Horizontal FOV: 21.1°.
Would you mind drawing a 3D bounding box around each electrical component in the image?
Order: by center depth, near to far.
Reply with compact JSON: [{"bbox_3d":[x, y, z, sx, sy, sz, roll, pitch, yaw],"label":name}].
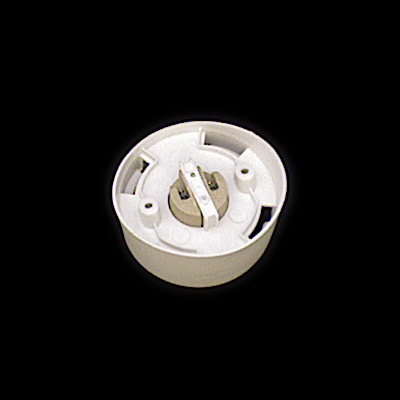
[{"bbox_3d":[0.000,0.000,0.624,0.099,0.099,0.064,0,-27,-1],"label":"electrical component"}]
